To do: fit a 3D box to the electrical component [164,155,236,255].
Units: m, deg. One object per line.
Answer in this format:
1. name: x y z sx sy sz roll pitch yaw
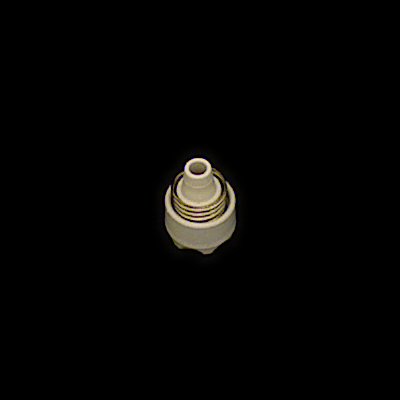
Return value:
1. electrical component: 0.000 0.000 0.635 0.043 0.043 0.062 0 -38 1
